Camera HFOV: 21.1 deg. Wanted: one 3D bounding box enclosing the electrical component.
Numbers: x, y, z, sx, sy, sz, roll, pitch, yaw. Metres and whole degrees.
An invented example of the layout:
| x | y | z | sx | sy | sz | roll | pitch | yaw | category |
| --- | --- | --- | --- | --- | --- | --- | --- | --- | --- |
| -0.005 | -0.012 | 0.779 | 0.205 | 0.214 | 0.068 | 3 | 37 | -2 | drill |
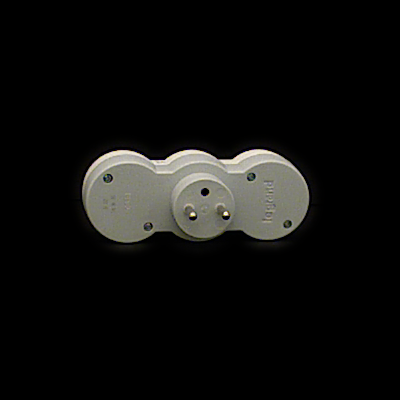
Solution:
| x | y | z | sx | sy | sz | roll | pitch | yaw | category |
| --- | --- | --- | --- | --- | --- | --- | --- | --- | --- |
| 0.000 | 0.000 | 0.648 | 0.139 | 0.052 | 0.073 | -1 | 13 | -10 | electrical component |
